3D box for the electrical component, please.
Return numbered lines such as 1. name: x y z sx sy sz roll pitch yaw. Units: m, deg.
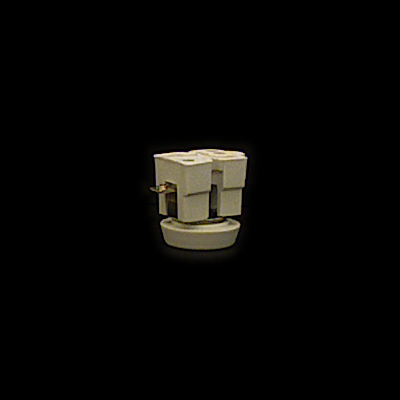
1. electrical component: 0.000 0.000 0.653 0.067 0.056 0.047 -8 16 -33
